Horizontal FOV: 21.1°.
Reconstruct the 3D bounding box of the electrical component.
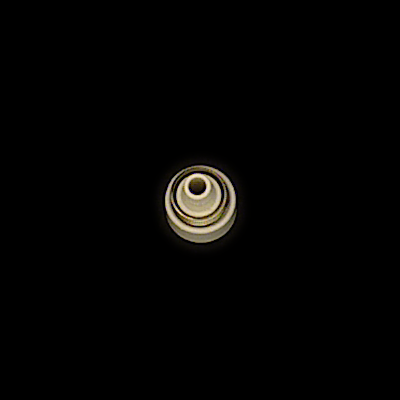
[{"bbox_3d":[0.000,0.000,0.634,0.043,0.043,0.061,0,-15,2],"label":"electrical component"}]
